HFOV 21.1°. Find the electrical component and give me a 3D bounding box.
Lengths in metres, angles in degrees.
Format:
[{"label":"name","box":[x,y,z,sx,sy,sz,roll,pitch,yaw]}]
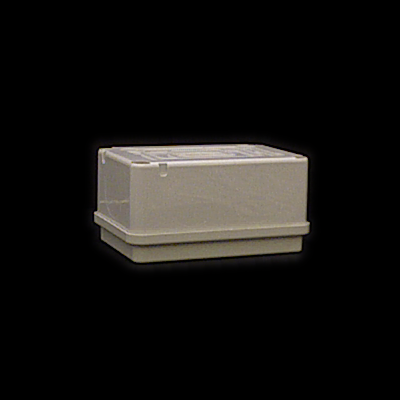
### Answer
[{"label":"electrical component","box":[0.000,0.000,0.645,0.113,0.057,0.077,-2,11,-22]}]
